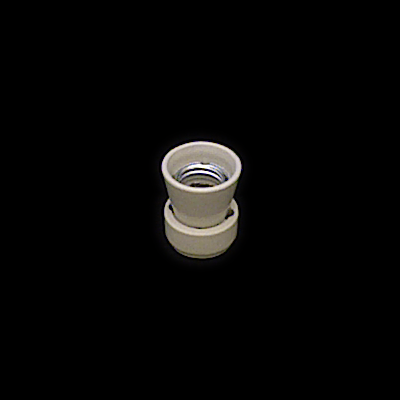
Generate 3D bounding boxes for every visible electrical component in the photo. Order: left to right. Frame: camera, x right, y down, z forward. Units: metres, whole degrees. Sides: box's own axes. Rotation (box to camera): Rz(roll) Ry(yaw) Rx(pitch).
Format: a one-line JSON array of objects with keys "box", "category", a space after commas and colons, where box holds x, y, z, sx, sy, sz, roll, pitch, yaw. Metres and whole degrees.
[{"box": [0.000, 0.000, 0.633, 0.045, 0.056, 0.044, 1, 41, 0], "category": "electrical component"}]
